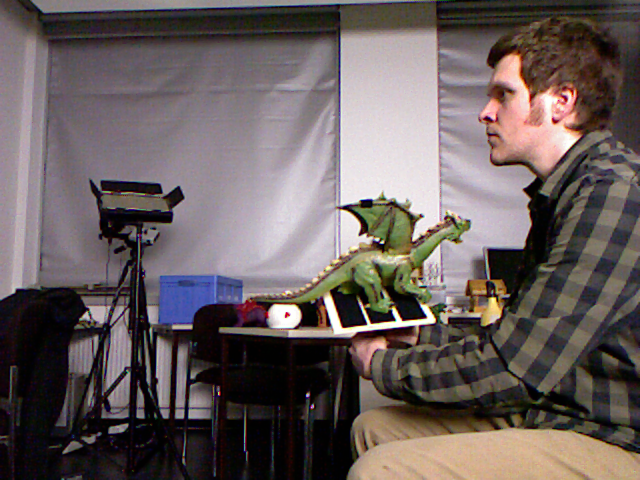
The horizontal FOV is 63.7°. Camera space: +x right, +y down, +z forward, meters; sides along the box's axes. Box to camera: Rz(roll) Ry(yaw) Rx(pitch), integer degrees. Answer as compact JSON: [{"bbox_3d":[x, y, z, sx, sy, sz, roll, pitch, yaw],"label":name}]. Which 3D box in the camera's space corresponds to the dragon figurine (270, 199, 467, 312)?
[{"bbox_3d":[0.103,0.022,1.014,0.412,0.238,0.125,-7,32,-12],"label":"dragon figurine"}]
